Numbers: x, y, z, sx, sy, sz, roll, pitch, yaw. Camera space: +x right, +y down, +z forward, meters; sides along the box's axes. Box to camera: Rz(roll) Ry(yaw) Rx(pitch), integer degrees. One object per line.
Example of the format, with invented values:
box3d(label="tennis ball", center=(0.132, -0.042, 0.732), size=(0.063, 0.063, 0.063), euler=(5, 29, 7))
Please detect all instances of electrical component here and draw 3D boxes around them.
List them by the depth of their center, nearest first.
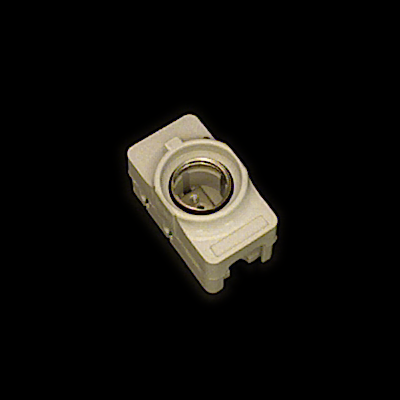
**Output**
box3d(label="electrical component", center=(0.000, 0.000, 0.636), size=(0.050, 0.089, 0.055), euler=(-32, -22, -15))
